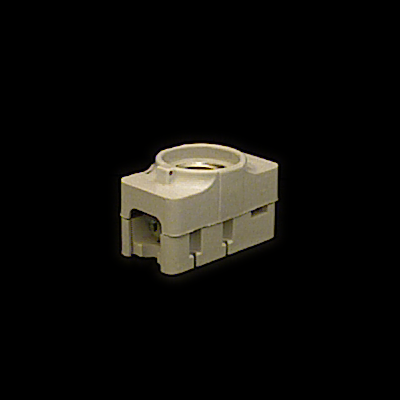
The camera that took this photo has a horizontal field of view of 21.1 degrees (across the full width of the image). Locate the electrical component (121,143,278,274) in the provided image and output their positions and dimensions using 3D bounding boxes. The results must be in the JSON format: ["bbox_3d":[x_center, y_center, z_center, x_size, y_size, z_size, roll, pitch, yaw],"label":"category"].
[{"bbox_3d":[0.000,0.000,0.647,0.090,0.056,0.049,-19,29,-42],"label":"electrical component"}]
